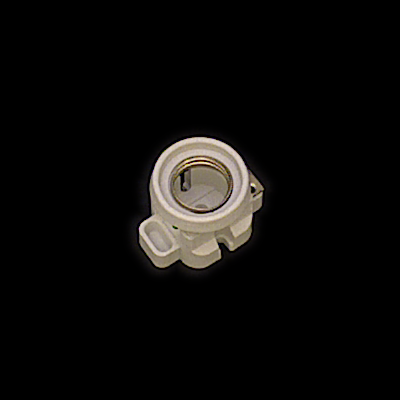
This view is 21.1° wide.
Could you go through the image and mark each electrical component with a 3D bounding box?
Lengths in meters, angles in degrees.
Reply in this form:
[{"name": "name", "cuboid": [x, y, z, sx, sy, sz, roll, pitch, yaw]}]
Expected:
[{"name": "electrical component", "cuboid": [0.000, 0.000, 0.629, 0.079, 0.057, 0.057, -31, -23, -15]}]
